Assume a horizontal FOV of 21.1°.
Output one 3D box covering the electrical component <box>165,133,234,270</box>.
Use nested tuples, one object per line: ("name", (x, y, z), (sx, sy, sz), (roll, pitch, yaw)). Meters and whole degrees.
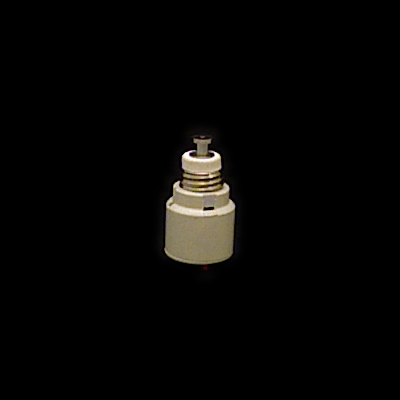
("electrical component", (0.000, 0.000, 0.635), (0.040, 0.079, 0.039), (2, 20, 0))
